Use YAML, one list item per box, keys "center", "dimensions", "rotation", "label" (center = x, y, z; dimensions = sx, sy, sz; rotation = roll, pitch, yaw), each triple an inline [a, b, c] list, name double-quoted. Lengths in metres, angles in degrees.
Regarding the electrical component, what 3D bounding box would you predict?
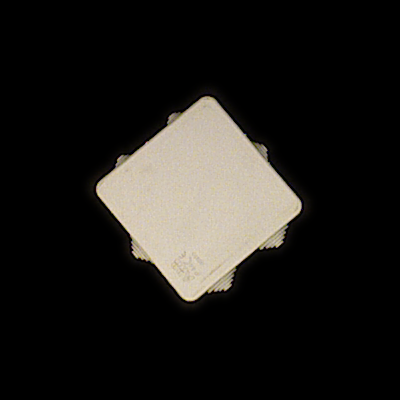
- center: [0.000, 0.000, 0.642]
  dimensions: [0.100, 0.100, 0.048]
  rotation: [-39, -5, -4]
  label: "electrical component"
